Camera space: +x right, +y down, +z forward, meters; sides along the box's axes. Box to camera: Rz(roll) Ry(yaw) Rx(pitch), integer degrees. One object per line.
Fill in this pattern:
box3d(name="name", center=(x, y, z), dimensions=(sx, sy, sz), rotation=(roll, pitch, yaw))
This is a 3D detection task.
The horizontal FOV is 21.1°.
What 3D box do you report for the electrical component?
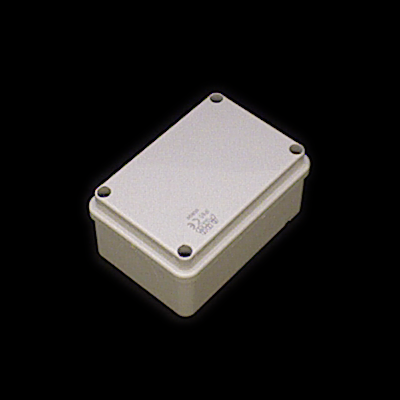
box3d(name="electrical component", center=(0.000, 0.000, 0.628), dimensions=(0.078, 0.057, 0.113), rotation=(35, 60, 23))
